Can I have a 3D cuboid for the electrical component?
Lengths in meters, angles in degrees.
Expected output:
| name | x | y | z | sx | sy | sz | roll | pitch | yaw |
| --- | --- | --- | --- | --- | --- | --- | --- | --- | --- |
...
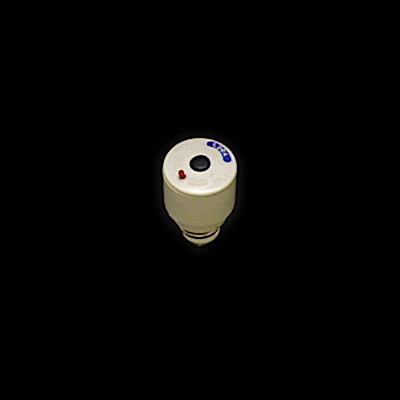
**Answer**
| name | x | y | z | sx | sy | sz | roll | pitch | yaw |
| --- | --- | --- | --- | --- | --- | --- | --- | --- | --- |
| electrical component | 0.000 | 0.000 | 0.620 | 0.040 | 0.040 | 0.078 | 0 | -37 | 0 |
